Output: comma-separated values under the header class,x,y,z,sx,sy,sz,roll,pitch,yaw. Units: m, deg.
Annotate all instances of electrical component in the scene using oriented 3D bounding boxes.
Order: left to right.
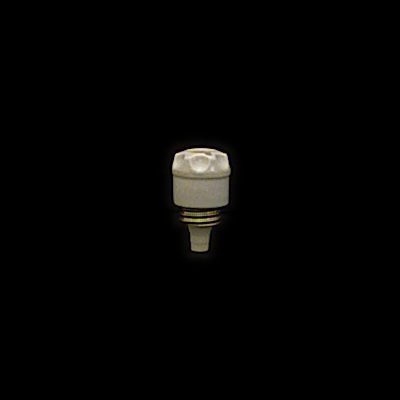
class,x,y,z,sx,sy,sz,roll,pitch,yaw
electrical component,0.000,0.000,0.649,0.035,0.062,0.035,1,12,0
